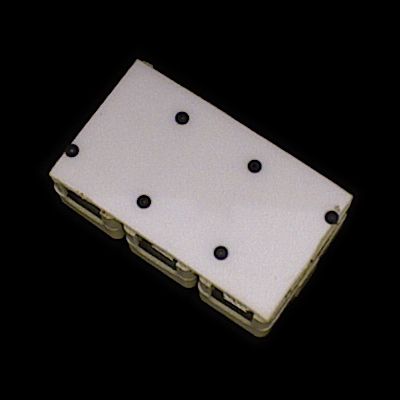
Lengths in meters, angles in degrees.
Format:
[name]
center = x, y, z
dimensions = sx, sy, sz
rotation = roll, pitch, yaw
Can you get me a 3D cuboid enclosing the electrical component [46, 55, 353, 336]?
[electrical component]
center = 0.000, 0.000, 0.630
dimensions = 0.150, 0.089, 0.062
rotation = 34, -14, 10
